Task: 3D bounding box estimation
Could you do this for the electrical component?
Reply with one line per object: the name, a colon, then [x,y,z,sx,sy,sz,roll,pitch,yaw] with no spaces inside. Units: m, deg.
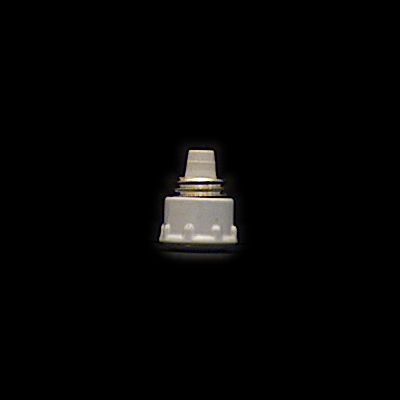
electrical component: [0.000,0.000,0.656,0.048,0.062,0.048,2,3,0]
